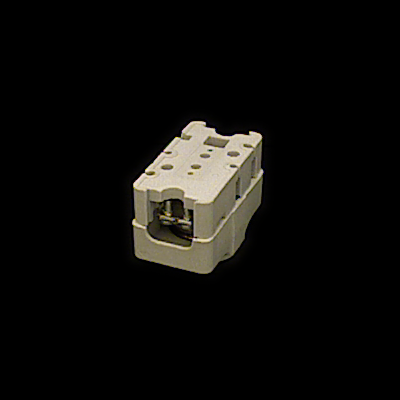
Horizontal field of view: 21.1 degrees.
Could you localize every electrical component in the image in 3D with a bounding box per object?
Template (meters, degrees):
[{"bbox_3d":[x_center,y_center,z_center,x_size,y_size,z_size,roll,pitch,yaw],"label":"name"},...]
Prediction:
[{"bbox_3d":[0.000,0.000,0.643,0.050,0.056,0.089,12,33,19],"label":"electrical component"}]
